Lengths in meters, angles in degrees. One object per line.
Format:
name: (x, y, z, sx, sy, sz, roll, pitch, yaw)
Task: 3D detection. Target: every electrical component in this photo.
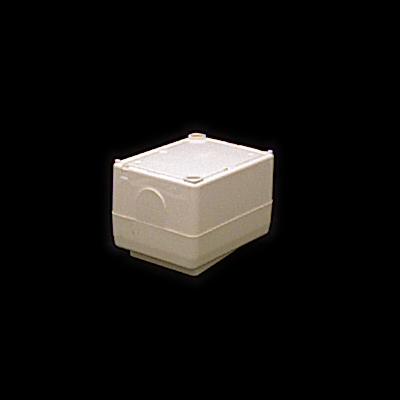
electrical component: (0.000, 0.000, 0.639, 0.061, 0.061, 0.095, 16, 24, 34)
